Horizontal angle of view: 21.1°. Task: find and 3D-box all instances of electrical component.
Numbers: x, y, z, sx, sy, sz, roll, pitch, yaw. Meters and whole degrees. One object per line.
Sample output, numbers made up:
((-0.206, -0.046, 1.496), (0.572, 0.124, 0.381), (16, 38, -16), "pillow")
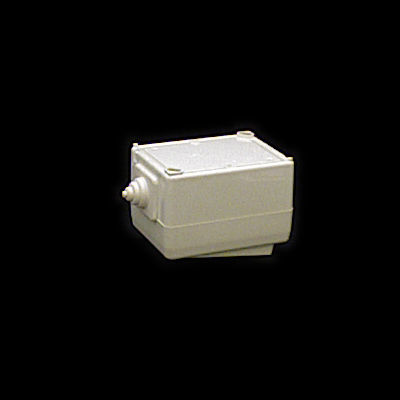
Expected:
((0.000, 0.000, 0.634), (0.096, 0.061, 0.061), (-8, 23, -23), "electrical component")
